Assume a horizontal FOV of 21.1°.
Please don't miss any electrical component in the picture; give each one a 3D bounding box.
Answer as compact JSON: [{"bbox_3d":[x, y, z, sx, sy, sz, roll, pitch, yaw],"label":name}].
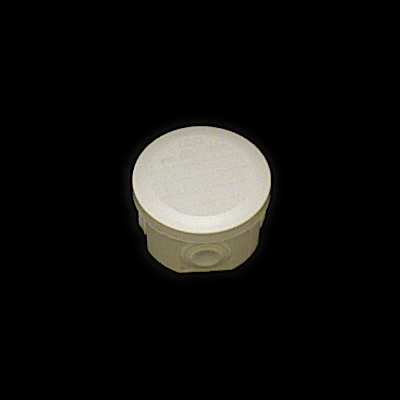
[{"bbox_3d":[0.000,0.000,0.632,0.080,0.080,0.051,0,-38,-1],"label":"electrical component"}]
